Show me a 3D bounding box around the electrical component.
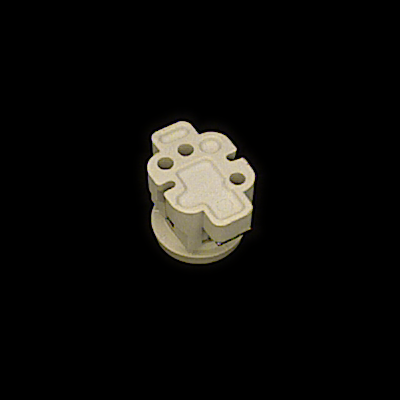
[{"bbox_3d":[0.000,0.000,0.636,0.058,0.078,0.057,-26,-31,-19],"label":"electrical component"}]
